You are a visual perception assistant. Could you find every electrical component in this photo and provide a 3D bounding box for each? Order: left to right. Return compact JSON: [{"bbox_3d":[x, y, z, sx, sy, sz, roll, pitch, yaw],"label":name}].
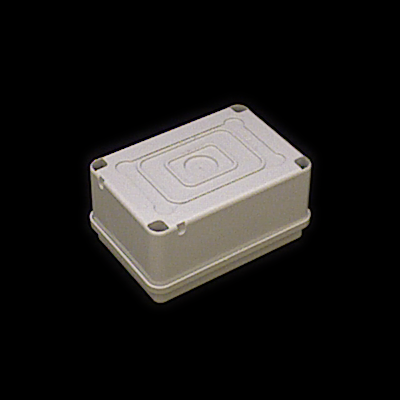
[{"bbox_3d":[0.000,0.000,0.632,0.113,0.057,0.077,-23,47,-25],"label":"electrical component"}]
